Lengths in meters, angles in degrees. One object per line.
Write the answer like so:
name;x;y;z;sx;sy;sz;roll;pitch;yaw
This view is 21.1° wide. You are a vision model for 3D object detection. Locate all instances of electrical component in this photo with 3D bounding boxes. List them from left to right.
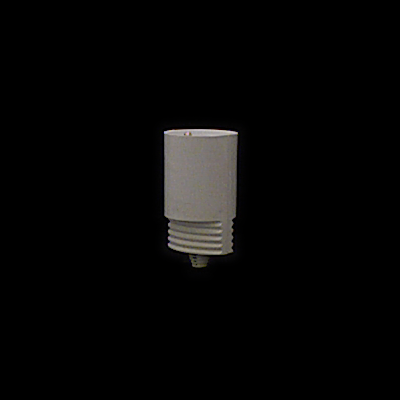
electrical component;0.000;0.000;0.641;0.043;0.081;0.043;1;10;0
